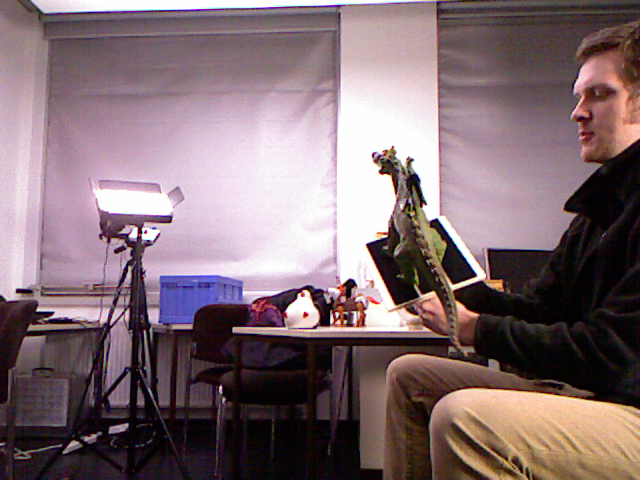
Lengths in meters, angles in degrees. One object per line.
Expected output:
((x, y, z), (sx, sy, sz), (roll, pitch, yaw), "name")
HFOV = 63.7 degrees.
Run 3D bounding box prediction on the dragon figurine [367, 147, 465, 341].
((0.185, -0.033, 0.987), (0.123, 0.421, 0.238), (-21, -44, -3), "dragon figurine")
